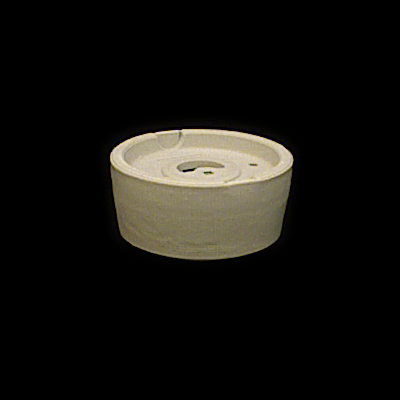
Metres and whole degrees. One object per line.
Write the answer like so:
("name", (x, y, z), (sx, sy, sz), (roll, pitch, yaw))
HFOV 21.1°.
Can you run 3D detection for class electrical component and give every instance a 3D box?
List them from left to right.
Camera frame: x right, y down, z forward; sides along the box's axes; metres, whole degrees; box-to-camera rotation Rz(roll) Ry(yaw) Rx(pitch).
("electrical component", (0.000, 0.000, 0.644), (0.108, 0.061, 0.106), (1, 21, 0))
